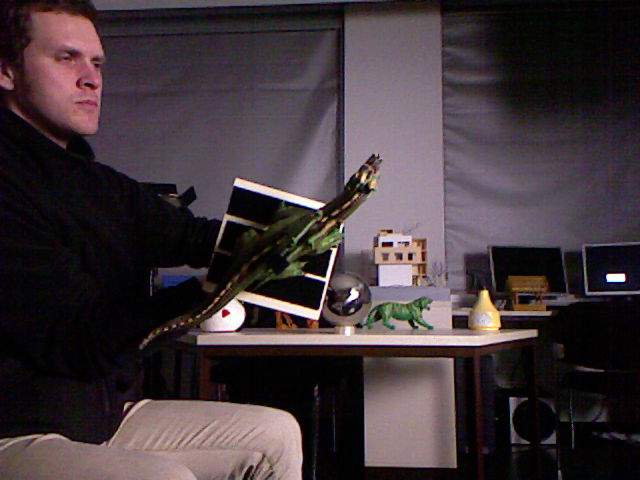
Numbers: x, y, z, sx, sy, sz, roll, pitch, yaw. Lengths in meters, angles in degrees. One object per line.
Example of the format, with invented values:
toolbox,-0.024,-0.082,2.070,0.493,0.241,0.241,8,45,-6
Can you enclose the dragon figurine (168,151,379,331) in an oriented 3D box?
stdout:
dragon figurine,-0.067,0.016,0.758,0.414,0.123,0.242,-41,1,-9
